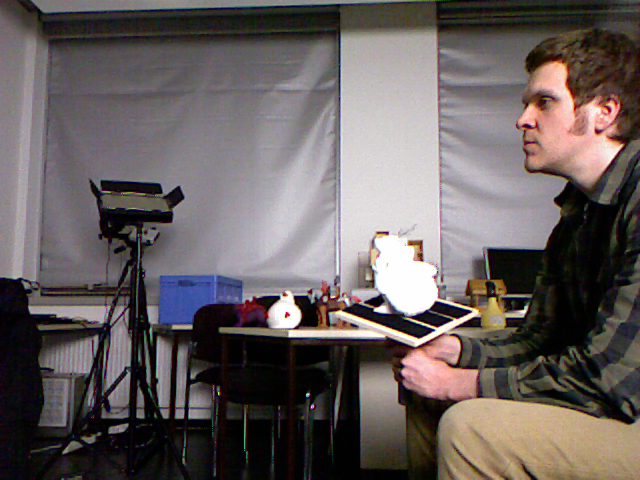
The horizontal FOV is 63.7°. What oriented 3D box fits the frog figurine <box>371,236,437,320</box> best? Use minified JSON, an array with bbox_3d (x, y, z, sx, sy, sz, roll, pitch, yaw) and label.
[{"bbox_3d":[0.168,0.070,1.017,0.138,0.157,0.124,-10,22,-18],"label":"frog figurine"}]
